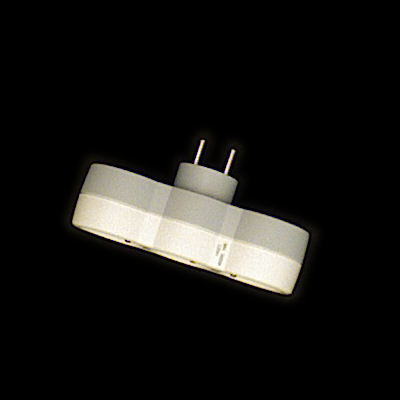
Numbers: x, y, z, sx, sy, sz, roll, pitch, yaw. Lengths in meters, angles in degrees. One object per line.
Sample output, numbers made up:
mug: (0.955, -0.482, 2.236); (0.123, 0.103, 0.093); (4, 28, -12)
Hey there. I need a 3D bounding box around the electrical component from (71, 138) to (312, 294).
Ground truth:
electrical component: (0.000, 0.000, 0.640); (0.138, 0.074, 0.052); (18, -7, 2)
